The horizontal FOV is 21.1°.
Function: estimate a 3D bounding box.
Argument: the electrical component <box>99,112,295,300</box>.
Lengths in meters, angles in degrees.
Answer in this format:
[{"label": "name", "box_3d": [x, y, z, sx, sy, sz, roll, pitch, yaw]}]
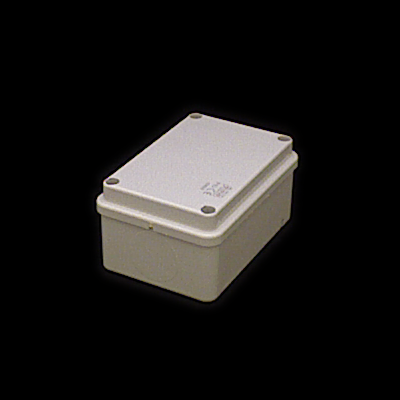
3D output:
[{"label": "electrical component", "box_3d": [0.000, 0.000, 0.634, 0.078, 0.058, 0.112, 17, 34, 24]}]
